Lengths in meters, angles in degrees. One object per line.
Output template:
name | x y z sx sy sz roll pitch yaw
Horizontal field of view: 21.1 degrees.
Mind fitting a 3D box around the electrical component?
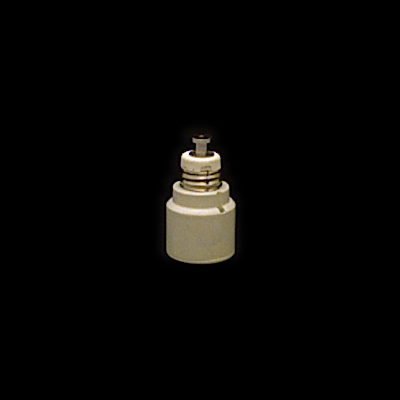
electrical component | 0.000 0.000 0.634 0.040 0.079 0.039 0 21 0
